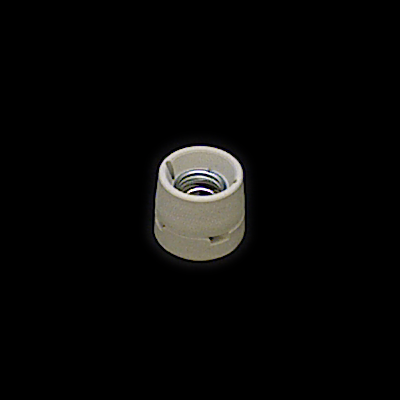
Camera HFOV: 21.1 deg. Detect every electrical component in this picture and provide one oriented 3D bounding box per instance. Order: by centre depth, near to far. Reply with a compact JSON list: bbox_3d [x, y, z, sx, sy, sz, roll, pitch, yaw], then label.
[{"bbox_3d":[0.000,0.000,0.635,0.055,0.047,0.055,1,43,-1],"label":"electrical component"}]
